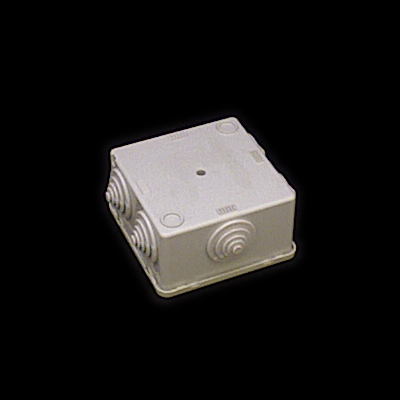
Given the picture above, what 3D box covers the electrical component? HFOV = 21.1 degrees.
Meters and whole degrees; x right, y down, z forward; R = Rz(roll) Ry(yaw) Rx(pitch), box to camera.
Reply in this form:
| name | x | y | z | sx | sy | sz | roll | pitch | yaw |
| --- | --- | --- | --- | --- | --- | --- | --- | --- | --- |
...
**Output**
| name | x | y | z | sx | sy | sz | roll | pitch | yaw |
| --- | --- | --- | --- | --- | --- | --- | --- | --- | --- |
| electrical component | 0.000 | 0.000 | 0.635 | 0.100 | 0.049 | 0.098 | -16 | 45 | -18 |
